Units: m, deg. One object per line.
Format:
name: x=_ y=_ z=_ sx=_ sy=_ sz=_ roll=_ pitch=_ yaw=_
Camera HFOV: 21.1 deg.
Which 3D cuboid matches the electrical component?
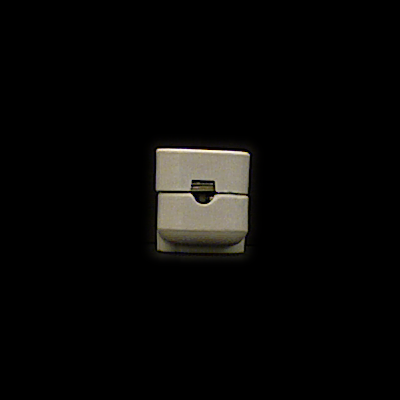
electrical component: x=0.000 y=0.000 z=0.655 sx=0.054 sy=0.059 sz=0.095 roll=1 pitch=1 yaw=-3
